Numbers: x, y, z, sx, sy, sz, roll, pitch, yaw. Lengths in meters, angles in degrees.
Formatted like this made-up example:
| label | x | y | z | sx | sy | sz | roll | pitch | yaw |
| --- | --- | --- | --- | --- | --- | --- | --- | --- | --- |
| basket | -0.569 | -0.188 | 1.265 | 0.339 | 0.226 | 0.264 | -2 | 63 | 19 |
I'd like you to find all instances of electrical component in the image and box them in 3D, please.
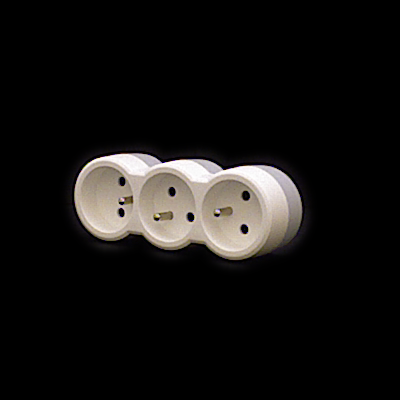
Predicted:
| label | x | y | z | sx | sy | sz | roll | pitch | yaw |
| --- | --- | --- | --- | --- | --- | --- | --- | --- | --- |
| electrical component | 0.000 | 0.000 | 0.646 | 0.137 | 0.052 | 0.074 | 7 | 10 | 31 |
